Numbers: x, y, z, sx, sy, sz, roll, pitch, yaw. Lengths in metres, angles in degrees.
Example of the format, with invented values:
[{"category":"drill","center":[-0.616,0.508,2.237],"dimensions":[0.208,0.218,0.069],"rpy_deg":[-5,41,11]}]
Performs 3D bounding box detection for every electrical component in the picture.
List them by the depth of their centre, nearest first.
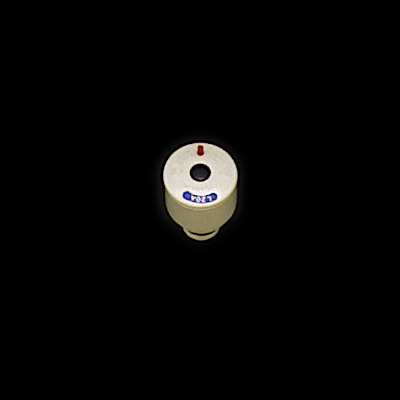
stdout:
[{"category":"electrical component","center":[0.000,0.000,0.619],"dimensions":[0.040,0.040,0.078],"rpy_deg":[0,-28,0]}]
